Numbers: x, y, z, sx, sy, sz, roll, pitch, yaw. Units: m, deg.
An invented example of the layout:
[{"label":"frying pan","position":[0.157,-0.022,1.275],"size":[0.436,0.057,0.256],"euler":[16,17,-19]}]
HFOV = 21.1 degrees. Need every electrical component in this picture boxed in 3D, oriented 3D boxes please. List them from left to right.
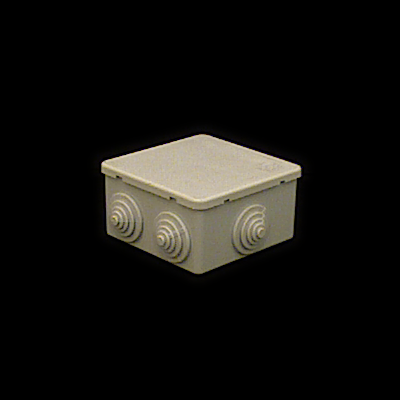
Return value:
[{"label":"electrical component","position":[0.000,0.000,0.649],"size":[0.100,0.049,0.098],"euler":[-19,29,-41]}]
